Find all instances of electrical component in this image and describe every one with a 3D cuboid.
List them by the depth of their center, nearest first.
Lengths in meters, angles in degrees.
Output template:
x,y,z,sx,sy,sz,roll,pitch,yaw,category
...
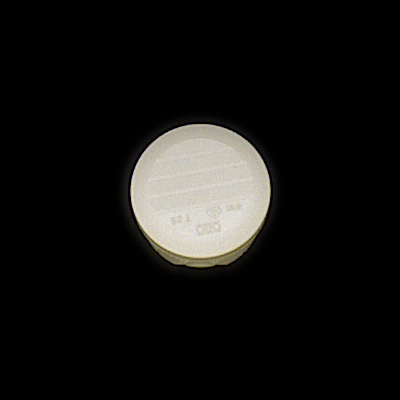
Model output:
x,y,z,sx,sy,sz,roll,pitch,yaw,category
0.000,0.000,0.629,0.080,0.080,0.050,0,-17,0,electrical component
